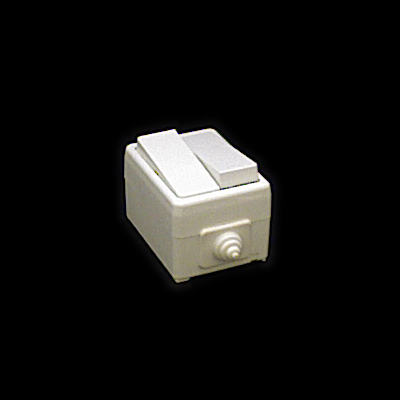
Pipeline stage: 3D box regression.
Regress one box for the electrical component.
[{"bbox_3d":[0.000,0.000,0.632,0.062,0.061,0.095,-13,34,-21],"label":"electrical component"}]
